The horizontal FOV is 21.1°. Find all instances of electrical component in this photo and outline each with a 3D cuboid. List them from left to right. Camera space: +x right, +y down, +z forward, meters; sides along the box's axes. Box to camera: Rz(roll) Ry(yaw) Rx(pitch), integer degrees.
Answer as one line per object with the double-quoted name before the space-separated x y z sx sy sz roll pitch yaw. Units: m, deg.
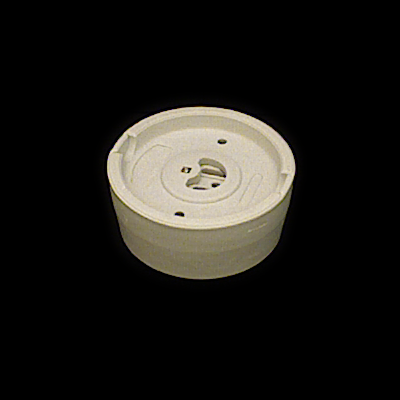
"electrical component" 0.000 0.000 0.637 0.108 0.061 0.107 1 43 0
